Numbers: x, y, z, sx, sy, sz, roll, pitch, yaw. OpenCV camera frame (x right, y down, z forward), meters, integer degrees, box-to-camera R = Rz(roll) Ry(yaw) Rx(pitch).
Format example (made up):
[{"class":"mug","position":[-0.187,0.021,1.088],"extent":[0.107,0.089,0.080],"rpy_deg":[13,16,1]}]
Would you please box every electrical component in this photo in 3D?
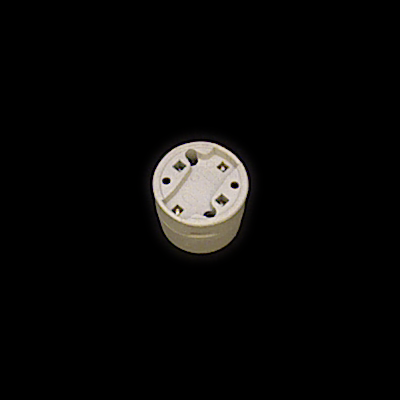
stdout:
[{"class":"electrical component","position":[0.000,0.000,0.635],"extent":[0.055,0.056,0.047],"rpy_deg":[0,-27,0]}]
